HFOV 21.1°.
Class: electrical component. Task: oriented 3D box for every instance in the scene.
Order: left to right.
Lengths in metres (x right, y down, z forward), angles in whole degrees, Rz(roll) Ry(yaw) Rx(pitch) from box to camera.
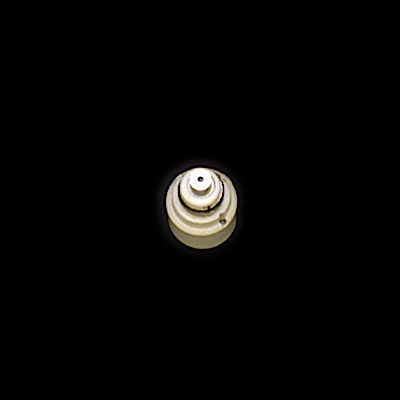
[{"bbox_3d":[0.000,0.000,0.617,0.040,0.040,0.078,0,-17,2],"label":"electrical component"}]
